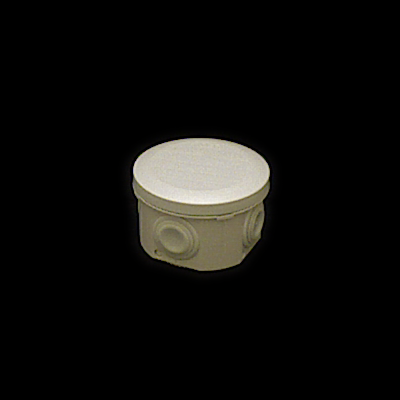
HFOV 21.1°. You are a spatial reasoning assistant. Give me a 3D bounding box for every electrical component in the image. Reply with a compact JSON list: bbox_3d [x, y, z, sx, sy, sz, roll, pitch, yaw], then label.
[{"bbox_3d":[0.000,0.000,0.636,0.080,0.051,0.079,1,31,0],"label":"electrical component"}]
